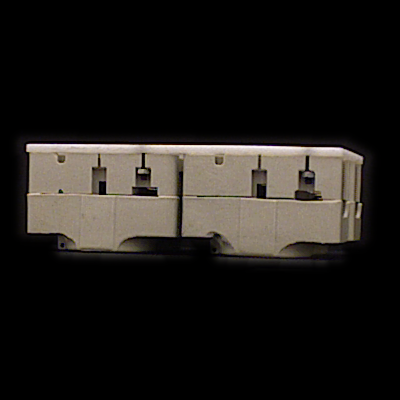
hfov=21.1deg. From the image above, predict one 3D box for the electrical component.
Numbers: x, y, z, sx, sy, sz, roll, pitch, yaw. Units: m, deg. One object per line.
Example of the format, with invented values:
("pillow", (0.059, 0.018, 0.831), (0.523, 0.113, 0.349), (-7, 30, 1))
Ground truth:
("electrical component", (0.000, 0.000, 0.650), (0.186, 0.060, 0.105), (1, 0, 15))
